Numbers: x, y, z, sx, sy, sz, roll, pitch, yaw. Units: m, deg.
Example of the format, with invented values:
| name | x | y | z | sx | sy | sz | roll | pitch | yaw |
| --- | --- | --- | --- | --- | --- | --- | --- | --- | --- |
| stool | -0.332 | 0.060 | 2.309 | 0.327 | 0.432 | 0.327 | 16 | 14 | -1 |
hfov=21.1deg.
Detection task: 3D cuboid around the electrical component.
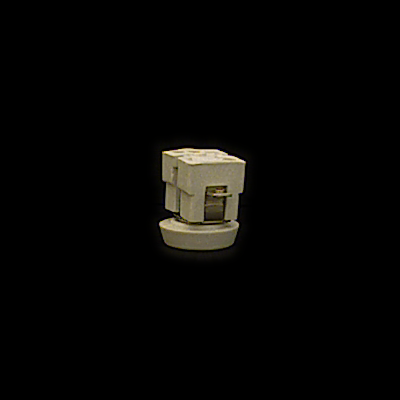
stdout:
| name | x | y | z | sx | sy | sz | roll | pitch | yaw |
| --- | --- | --- | --- | --- | --- | --- | --- | --- | --- |
| electrical component | 0.000 | 0.000 | 0.652 | 0.049 | 0.056 | 0.065 | -3 | 13 | -24 |
